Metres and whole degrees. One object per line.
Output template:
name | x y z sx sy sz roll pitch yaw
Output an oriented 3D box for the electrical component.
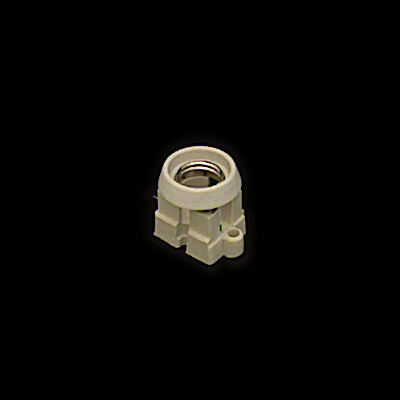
electrical component | 0.000 0.000 0.639 0.066 0.056 0.048 26 47 25
